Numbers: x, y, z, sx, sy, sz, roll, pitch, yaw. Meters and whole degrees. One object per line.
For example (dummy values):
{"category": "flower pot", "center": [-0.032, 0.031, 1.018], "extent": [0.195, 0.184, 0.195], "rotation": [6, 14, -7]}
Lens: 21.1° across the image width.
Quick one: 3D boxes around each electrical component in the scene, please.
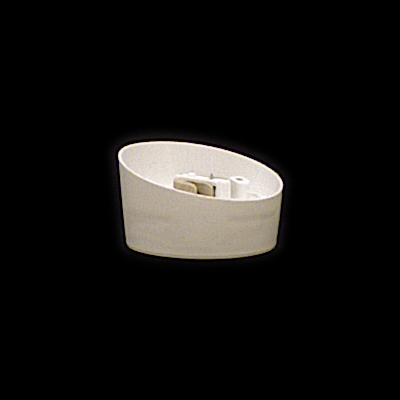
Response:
{"category": "electrical component", "center": [0.000, 0.000, 0.643], "extent": [0.099, 0.064, 0.098], "rotation": [0, 10, 0]}
